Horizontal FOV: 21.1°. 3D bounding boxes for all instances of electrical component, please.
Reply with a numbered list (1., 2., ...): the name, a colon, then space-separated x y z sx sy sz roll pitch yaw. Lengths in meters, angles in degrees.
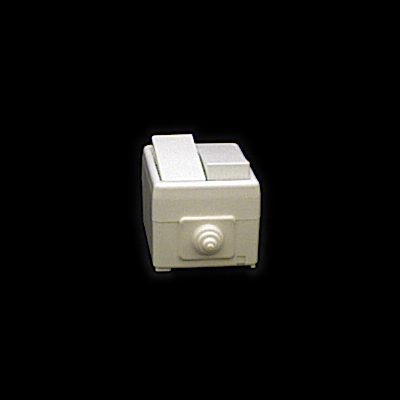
1. electrical component: 0.000 0.000 0.636 0.062 0.061 0.095 -2 21 -7
